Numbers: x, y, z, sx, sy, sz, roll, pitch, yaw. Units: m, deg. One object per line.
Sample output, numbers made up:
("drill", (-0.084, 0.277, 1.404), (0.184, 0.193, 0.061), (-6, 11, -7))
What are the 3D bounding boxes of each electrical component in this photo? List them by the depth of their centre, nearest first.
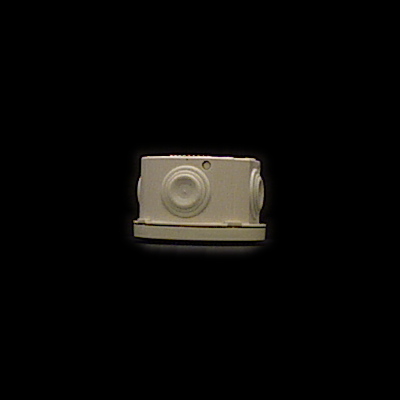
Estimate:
("electrical component", (0.000, 0.000, 0.649), (0.080, 0.051, 0.080), (2, 1, 0))
